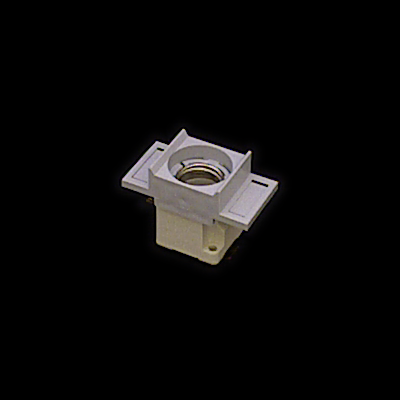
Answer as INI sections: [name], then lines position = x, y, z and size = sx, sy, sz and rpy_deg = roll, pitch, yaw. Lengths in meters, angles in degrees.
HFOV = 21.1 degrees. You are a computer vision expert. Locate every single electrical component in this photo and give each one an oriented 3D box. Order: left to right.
[electrical component]
position = 0.000, 0.000, 0.629
size = 0.080, 0.064, 0.042
rpy_deg = 20, 46, 19
